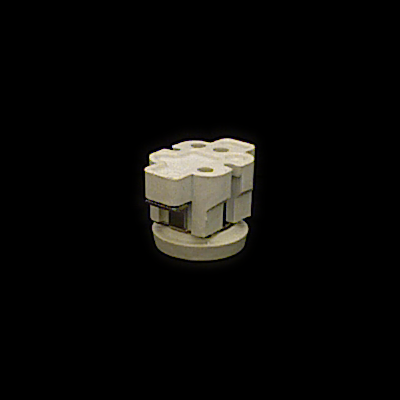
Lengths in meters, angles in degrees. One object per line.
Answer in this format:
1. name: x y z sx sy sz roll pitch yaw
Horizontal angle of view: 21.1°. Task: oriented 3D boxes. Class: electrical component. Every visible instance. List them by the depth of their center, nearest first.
1. electrical component: 0.000 0.000 0.644 0.057 0.057 0.078 18 29 34
